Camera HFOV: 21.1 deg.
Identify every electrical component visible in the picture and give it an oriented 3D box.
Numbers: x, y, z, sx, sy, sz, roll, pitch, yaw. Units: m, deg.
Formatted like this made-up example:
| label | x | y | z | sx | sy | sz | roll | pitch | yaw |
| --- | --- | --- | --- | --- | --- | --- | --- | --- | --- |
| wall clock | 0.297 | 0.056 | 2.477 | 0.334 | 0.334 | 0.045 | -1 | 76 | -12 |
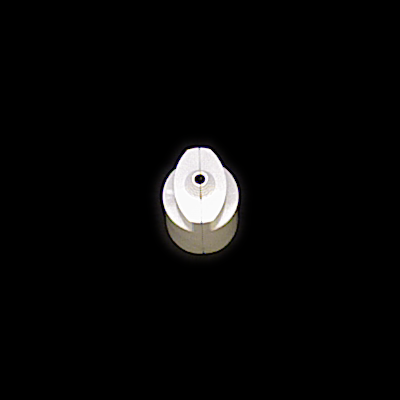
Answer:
| label | x | y | z | sx | sy | sz | roll | pitch | yaw |
| --- | --- | --- | --- | --- | --- | --- | --- | --- | --- |
| electrical component | 0.000 | 0.000 | 0.616 | 0.043 | 0.043 | 0.080 | 0 | -17 | 0 |
